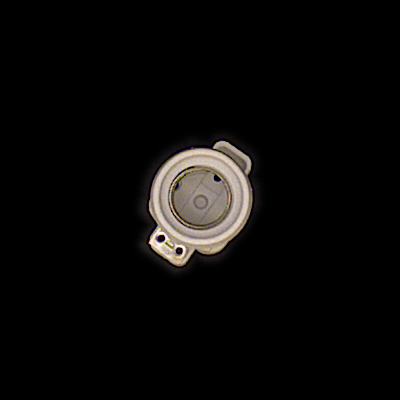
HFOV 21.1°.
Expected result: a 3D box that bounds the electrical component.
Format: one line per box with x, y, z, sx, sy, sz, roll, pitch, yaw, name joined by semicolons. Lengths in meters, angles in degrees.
0.000;0.000;0.629;0.058;0.079;0.056;35;-5;4;electrical component
